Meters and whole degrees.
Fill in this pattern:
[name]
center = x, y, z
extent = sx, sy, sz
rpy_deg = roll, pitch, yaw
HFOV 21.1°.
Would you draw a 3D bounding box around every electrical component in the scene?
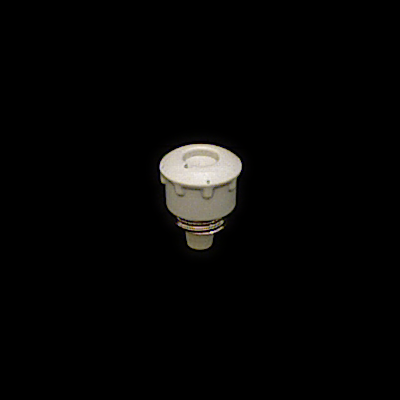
[electrical component]
center = 0.000, 0.000, 0.640
extent = 0.048, 0.063, 0.047
rpy_deg = 1, 32, 0
